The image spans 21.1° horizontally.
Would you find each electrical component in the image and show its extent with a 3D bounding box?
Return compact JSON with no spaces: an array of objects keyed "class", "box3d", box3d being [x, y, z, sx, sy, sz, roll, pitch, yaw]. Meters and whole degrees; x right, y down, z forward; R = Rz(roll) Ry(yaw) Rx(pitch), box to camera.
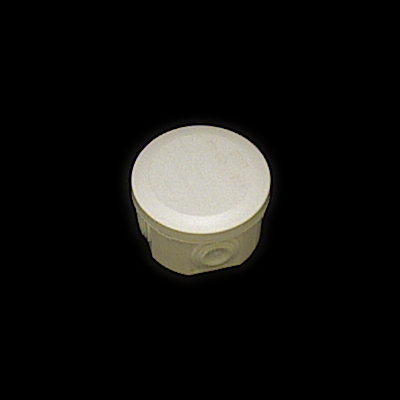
[{"class":"electrical component","box3d":[0.000,0.000,0.630,0.080,0.080,0.051,0,-38,0]}]
